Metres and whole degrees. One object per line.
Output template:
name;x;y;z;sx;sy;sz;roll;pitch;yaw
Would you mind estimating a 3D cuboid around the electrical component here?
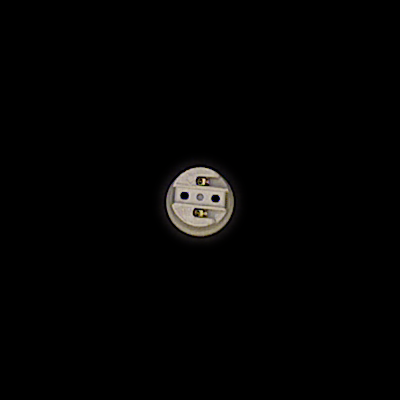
electrical component;0.000;0.000;0.634;0.040;0.040;0.046;0;-6;0
